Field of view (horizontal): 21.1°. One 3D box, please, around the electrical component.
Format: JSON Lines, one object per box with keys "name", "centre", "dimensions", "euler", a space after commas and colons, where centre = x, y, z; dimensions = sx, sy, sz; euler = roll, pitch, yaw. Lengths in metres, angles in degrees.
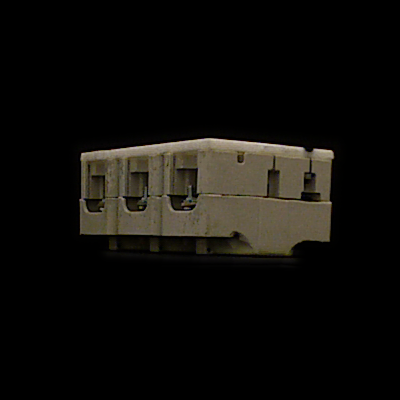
{"name": "electrical component", "centre": [0.000, 0.000, 0.658], "dimensions": [0.090, 0.062, 0.149], "euler": [2, -1, -33]}
